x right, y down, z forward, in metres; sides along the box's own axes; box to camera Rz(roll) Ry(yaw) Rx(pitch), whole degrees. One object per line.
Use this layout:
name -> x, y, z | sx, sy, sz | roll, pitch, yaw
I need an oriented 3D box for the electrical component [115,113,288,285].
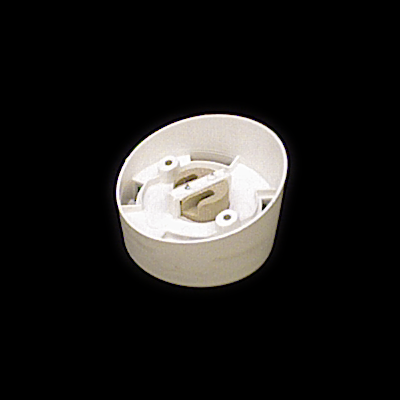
electrical component -> 0.000, 0.000, 0.630 | 0.099, 0.065, 0.097 | 1, 41, -1
